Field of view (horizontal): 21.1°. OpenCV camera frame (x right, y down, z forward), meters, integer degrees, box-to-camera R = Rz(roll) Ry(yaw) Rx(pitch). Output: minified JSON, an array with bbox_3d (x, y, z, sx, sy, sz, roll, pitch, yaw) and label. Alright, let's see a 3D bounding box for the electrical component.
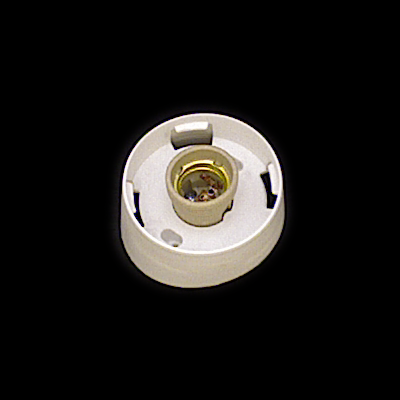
[{"bbox_3d":[0.000,0.000,0.625,0.099,0.099,0.064,0,-27,0],"label":"electrical component"}]
